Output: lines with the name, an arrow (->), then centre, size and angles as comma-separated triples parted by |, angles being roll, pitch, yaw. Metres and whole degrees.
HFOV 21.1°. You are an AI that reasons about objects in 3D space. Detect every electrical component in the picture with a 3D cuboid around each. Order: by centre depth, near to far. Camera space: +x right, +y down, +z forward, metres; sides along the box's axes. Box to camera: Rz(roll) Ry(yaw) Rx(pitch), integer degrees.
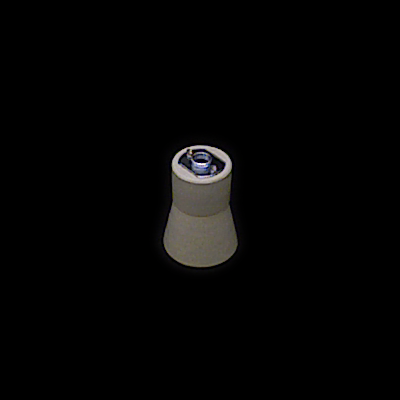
electrical component -> 0.000, 0.000, 0.630 | 0.044, 0.066, 0.044 | 1, 41, -1
